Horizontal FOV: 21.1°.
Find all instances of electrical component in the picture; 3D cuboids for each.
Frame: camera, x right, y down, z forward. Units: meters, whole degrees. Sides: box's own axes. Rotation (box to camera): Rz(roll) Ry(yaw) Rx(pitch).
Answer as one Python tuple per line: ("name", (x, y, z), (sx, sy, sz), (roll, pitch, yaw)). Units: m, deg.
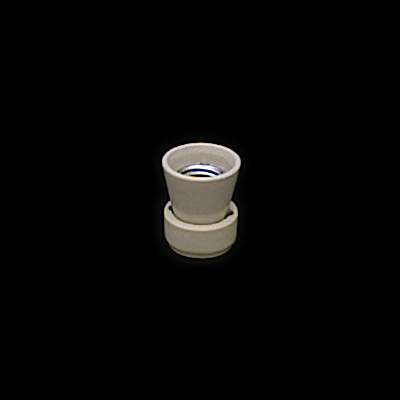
("electrical component", (0.000, 0.000, 0.636), (0.045, 0.056, 0.044), (1, 31, 0))
